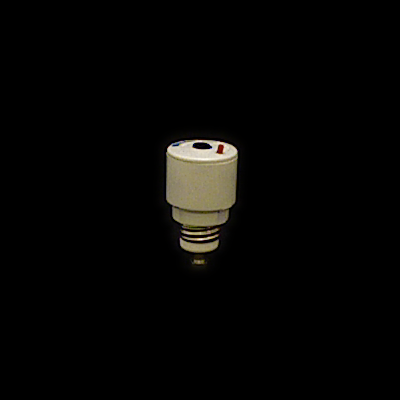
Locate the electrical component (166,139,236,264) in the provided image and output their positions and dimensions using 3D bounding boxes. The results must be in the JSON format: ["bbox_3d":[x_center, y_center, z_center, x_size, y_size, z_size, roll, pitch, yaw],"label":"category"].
[{"bbox_3d":[0.000,0.000,0.633,0.040,0.079,0.039,1,21,0],"label":"electrical component"}]
